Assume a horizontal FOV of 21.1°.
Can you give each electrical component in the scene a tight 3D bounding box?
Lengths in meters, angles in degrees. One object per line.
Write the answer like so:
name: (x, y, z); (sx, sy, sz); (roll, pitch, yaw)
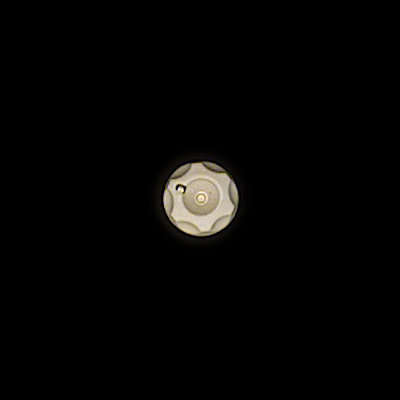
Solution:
electrical component: (0.000, 0.000, 0.635); (0.043, 0.043, 0.062); (0, -5, 0)
